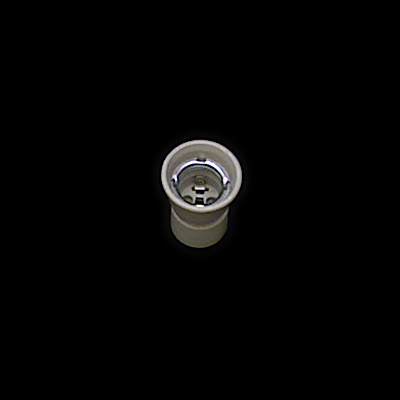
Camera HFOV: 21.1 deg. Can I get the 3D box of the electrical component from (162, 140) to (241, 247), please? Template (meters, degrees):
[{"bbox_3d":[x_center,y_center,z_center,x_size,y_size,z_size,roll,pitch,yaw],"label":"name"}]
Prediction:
[{"bbox_3d":[0.000,0.000,0.625,0.044,0.044,0.065,0,-27,-1],"label":"electrical component"}]
